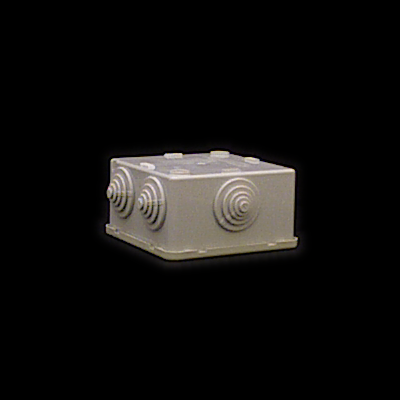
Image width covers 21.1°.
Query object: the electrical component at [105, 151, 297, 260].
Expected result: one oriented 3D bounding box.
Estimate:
[{"bbox_3d":[0.000,0.000,0.646,0.100,0.049,0.099,-4,12,-29],"label":"electrical component"}]
